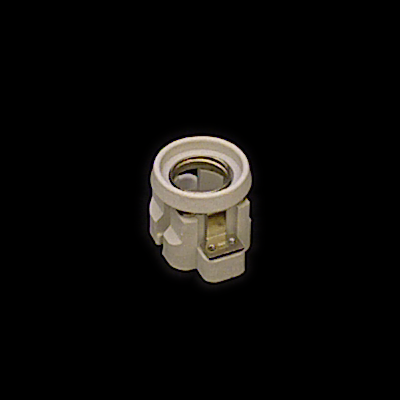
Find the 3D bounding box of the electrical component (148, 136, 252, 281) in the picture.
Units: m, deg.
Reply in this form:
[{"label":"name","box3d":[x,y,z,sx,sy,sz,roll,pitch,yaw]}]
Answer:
[{"label":"electrical component","box3d":[0.000,0.000,0.631,0.058,0.057,0.078,-17,45,-18]}]
